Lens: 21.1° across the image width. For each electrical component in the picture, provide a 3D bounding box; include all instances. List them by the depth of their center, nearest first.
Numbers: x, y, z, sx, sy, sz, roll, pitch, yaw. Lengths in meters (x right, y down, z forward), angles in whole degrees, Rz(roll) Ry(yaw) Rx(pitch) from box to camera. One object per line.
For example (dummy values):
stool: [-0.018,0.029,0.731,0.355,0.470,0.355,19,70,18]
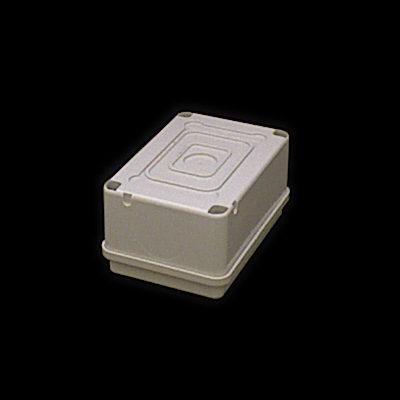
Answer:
electrical component: [0.000,0.000,0.635,0.078,0.058,0.112,13,33,19]
